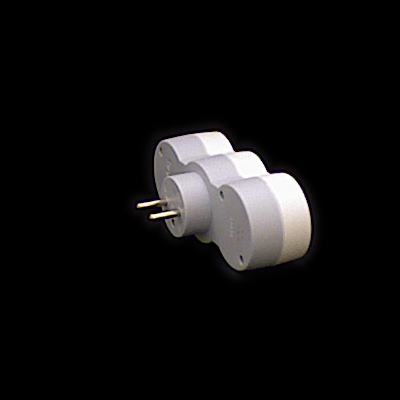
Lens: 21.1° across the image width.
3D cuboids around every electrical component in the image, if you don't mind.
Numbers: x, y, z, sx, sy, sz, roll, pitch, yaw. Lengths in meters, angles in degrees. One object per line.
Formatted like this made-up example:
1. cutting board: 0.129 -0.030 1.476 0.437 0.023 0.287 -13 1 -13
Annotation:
1. electrical component: 0.000 0.000 0.638 0.073 0.053 0.137 -11 25 -23
